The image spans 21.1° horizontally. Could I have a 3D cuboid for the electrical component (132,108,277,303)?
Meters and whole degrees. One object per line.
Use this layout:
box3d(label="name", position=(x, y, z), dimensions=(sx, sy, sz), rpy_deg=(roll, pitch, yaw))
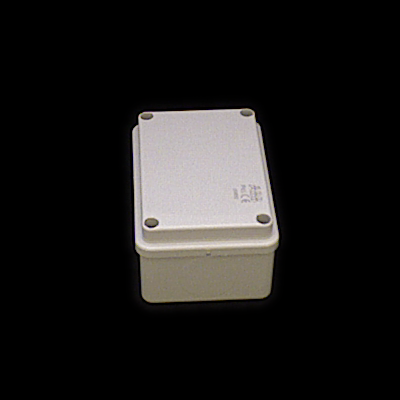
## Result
box3d(label="electrical component", position=(0.000, 0.000, 0.631), dimensions=(0.078, 0.057, 0.112), rpy_deg=(-2, 42, -3))
